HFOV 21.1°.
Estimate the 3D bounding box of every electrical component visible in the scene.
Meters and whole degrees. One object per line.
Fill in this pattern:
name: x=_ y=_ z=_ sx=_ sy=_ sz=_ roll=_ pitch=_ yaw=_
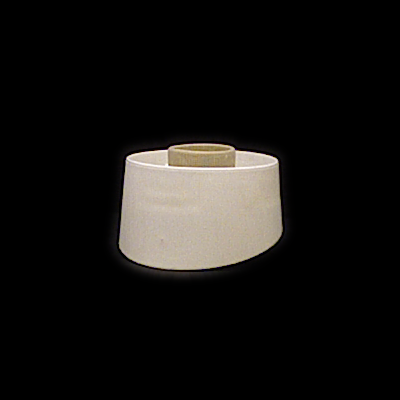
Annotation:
electrical component: x=0.000 y=0.000 z=0.644 sx=0.099 sy=0.064 sz=0.098 roll=1 pitch=11 yaw=0
